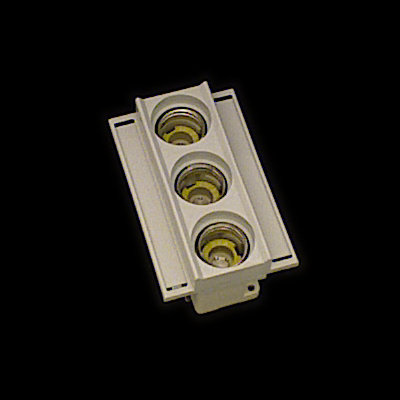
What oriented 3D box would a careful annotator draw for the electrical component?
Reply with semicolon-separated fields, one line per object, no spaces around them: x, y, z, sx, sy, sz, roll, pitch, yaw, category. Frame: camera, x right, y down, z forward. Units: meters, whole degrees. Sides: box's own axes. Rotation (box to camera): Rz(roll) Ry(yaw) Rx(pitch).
0.000;0.000;0.638;0.079;0.121;0.063;-15;-26;-9;electrical component
